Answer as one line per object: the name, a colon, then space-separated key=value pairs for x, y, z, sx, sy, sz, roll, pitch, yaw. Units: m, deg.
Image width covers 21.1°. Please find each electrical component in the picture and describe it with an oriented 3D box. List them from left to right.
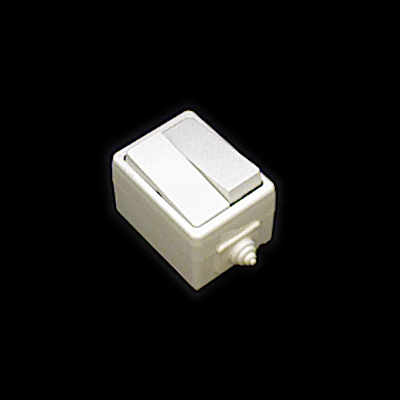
electrical component: x=0.000 y=0.000 z=0.627 sx=0.062 sy=0.061 sz=0.096 roll=-33 pitch=59 yaw=-23
